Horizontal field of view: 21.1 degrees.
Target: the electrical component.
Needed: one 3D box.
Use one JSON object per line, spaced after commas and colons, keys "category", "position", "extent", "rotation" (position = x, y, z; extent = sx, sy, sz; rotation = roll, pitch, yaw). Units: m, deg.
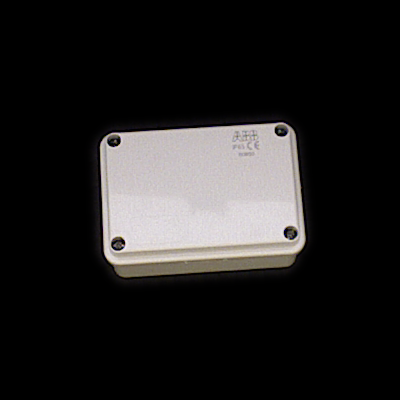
{"category": "electrical component", "position": [0.000, 0.000, 0.628], "extent": [0.113, 0.078, 0.057], "rotation": [-4, -17, -1]}
